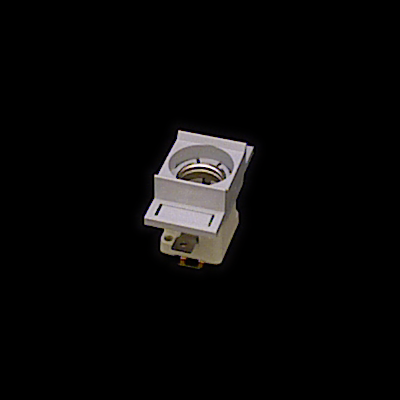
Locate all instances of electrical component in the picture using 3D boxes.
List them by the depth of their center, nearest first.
[{"bbox_3d":[0.000,0.000,0.627,0.042,0.064,0.080,13,43,12],"label":"electrical component"}]
